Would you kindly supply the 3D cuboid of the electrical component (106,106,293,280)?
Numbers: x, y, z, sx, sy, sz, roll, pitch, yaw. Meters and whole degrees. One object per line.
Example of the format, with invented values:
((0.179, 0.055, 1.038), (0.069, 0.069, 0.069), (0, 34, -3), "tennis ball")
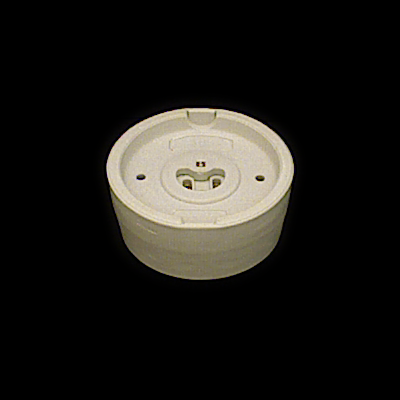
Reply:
((0.000, 0.000, 0.640), (0.108, 0.061, 0.106), (1, 43, 0), "electrical component")
